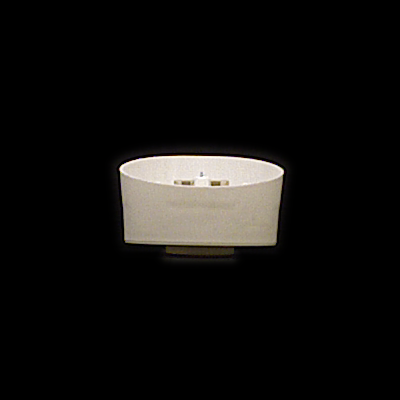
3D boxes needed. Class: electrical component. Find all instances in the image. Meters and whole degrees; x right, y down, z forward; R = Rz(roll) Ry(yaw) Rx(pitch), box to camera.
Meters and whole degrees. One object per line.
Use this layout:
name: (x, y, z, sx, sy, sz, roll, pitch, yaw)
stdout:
electrical component: (0.000, 0.000, 0.650, 0.099, 0.064, 0.099, 1, -1, 0)
